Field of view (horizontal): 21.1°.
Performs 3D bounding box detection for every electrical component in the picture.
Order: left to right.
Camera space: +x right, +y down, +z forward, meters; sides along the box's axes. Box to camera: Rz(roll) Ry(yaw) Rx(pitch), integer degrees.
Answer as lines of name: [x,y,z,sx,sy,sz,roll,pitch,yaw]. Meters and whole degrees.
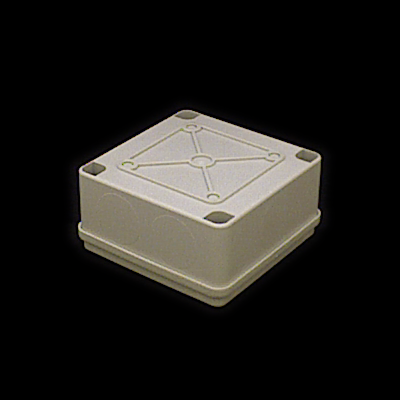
electrical component: [0.000,0.000,0.637,0.107,0.057,0.108,21,36,30]
